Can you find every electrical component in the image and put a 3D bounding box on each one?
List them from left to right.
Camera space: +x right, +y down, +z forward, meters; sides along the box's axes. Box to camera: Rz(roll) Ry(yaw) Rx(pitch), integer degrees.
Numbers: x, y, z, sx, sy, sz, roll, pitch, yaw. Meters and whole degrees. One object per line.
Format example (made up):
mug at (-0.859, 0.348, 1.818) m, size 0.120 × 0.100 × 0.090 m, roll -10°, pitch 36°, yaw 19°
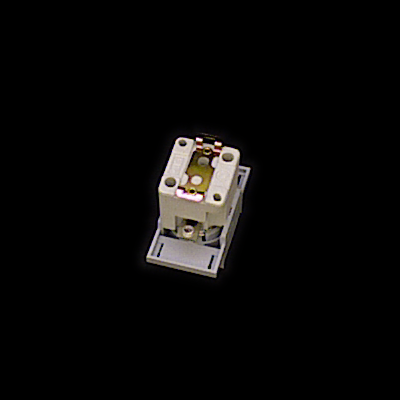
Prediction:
electrical component at (0.000, 0.000, 0.627) m, size 0.042 × 0.080 × 0.064 m, roll 12°, pitch -37°, yaw 9°
